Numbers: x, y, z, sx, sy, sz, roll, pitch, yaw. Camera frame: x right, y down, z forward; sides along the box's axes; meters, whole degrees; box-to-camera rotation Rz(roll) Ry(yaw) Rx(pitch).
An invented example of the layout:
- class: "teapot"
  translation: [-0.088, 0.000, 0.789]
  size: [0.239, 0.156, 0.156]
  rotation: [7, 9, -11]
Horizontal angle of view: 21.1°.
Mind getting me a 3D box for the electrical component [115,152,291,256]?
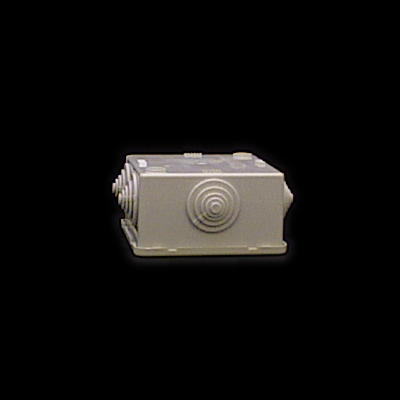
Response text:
- class: "electrical component"
  translation: [0.000, 0.000, 0.646]
  size: [0.100, 0.049, 0.099]
  rotation: [0, 11, -10]
